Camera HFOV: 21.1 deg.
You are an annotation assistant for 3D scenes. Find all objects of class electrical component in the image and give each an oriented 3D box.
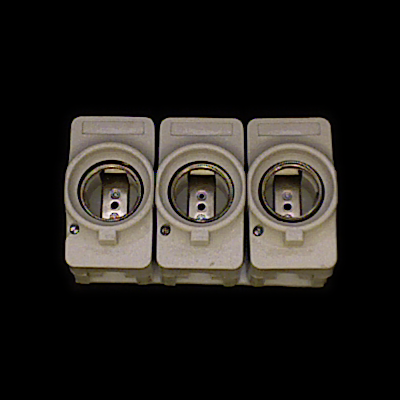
[{"bbox_3d":[0.000,0.000,0.631,0.150,0.089,0.062,0,-16,1],"label":"electrical component"}]
